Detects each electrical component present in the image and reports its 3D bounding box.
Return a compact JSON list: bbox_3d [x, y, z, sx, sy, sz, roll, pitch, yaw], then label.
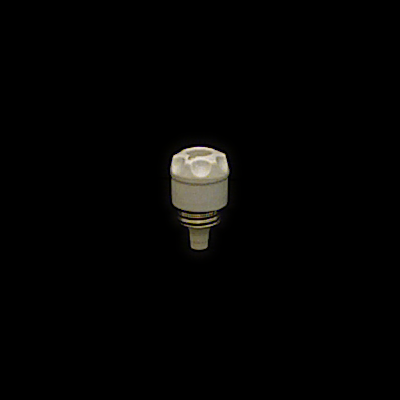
[{"bbox_3d":[0.000,0.000,0.644,0.035,0.062,0.035,1,22,0],"label":"electrical component"}]
